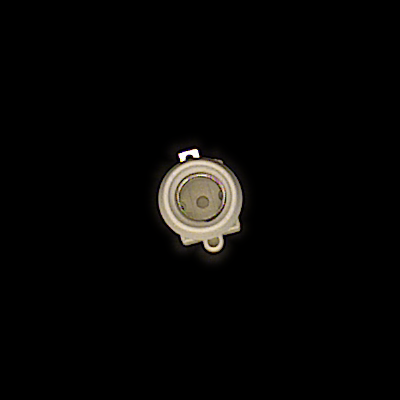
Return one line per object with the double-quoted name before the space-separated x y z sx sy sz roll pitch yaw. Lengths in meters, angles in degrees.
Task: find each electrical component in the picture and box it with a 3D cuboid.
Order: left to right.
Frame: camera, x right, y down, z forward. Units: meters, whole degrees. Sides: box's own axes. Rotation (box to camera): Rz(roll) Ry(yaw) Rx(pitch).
"electrical component" 0.000 0.000 0.639 0.048 0.066 0.055 -16 -6 -3
